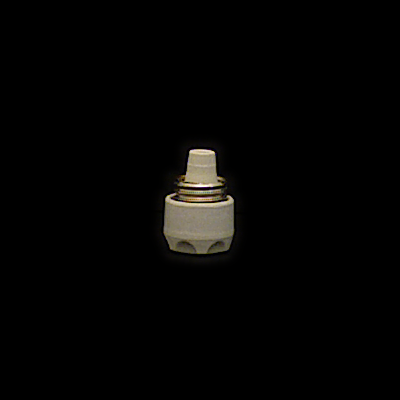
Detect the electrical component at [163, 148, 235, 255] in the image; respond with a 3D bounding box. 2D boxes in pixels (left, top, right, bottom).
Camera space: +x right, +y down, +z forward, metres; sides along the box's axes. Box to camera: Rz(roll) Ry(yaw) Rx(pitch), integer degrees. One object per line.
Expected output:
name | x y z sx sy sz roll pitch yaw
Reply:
electrical component | 0.000 0.000 0.650 0.043 0.062 0.043 2 13 0
